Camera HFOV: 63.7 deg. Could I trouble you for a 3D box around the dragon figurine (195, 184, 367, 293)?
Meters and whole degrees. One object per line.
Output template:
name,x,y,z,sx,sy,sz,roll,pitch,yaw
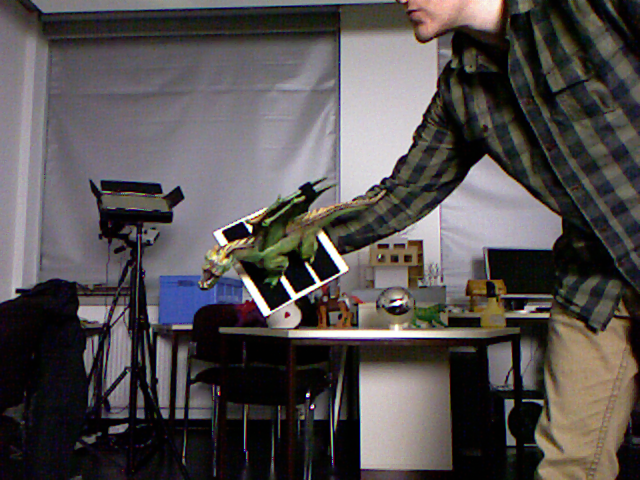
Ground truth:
dragon figurine,-0.051,-0.026,0.940,0.415,0.123,0.239,-33,-9,-20
